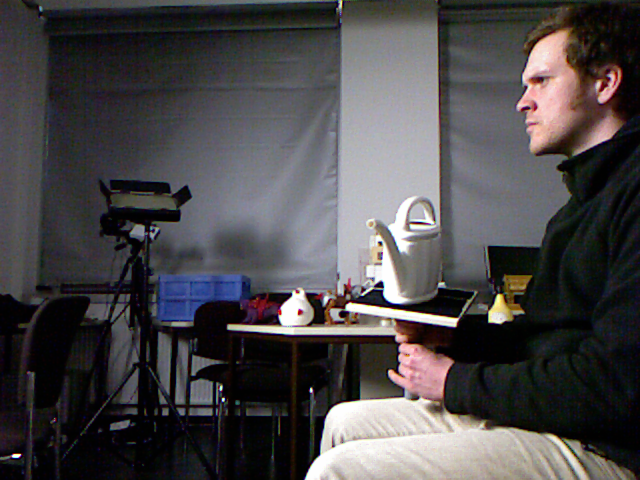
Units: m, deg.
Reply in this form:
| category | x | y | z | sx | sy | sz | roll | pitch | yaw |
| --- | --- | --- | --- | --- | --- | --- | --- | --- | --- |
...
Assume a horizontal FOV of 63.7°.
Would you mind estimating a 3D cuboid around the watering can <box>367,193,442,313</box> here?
| category | x | y | z | sx | sy | sz | roll | pitch | yaw |
| --- | --- | --- | --- | --- | --- | --- | --- | --- | --- |
| watering can | 0.156 | 0.030 | 0.949 | 0.104 | 0.223 | 0.351 | 7 | 13 | 29 |
